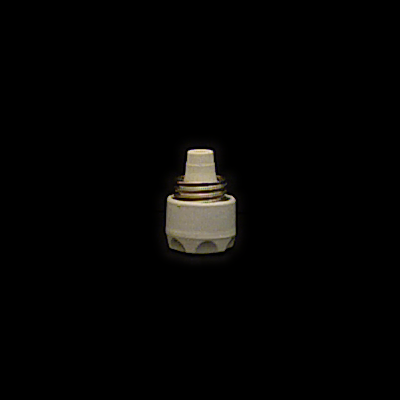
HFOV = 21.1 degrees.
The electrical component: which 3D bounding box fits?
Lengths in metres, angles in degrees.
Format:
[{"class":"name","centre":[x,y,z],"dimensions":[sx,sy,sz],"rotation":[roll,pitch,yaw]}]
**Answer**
[{"class":"electrical component","centre":[0.000,0.000,0.651],"dimensions":[0.043,0.062,0.043],"rotation":[0,12,1]}]
